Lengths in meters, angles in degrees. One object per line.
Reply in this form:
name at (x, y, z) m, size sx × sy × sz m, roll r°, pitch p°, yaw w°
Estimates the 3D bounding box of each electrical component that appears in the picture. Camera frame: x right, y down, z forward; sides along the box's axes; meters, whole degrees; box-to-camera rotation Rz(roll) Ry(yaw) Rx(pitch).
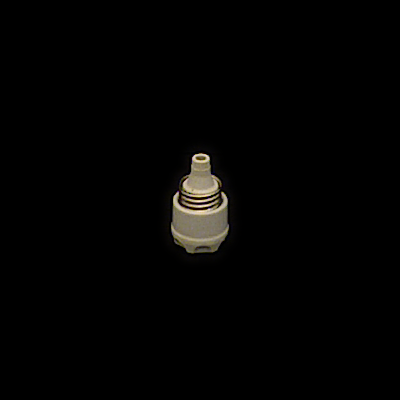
electrical component at (0.000, 0.000, 0.648) m, size 0.035 × 0.062 × 0.034 m, roll 1°, pitch 34°, yaw 0°
